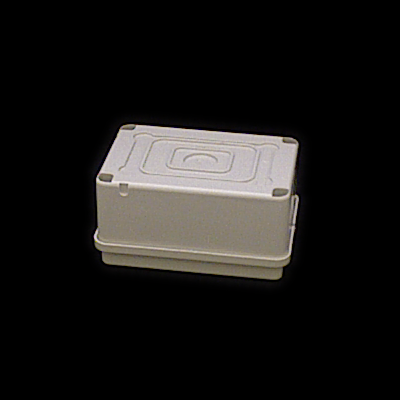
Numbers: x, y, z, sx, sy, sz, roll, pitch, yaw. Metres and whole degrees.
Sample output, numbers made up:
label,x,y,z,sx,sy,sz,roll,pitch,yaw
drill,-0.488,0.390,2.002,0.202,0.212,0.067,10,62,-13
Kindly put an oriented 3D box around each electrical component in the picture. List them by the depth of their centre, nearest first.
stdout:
label,x,y,z,sx,sy,sz,roll,pitch,yaw
electrical component,0.000,0.000,0.635,0.113,0.058,0.077,6,31,6
